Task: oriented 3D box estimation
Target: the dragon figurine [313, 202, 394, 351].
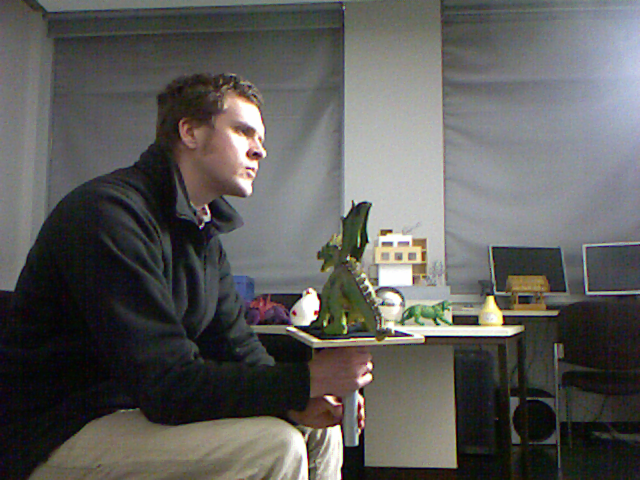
[{"bbox_3d":[0.060,0.051,0.942,0.122,0.244,0.409,1,-3,-16],"label":"dragon figurine"}]
